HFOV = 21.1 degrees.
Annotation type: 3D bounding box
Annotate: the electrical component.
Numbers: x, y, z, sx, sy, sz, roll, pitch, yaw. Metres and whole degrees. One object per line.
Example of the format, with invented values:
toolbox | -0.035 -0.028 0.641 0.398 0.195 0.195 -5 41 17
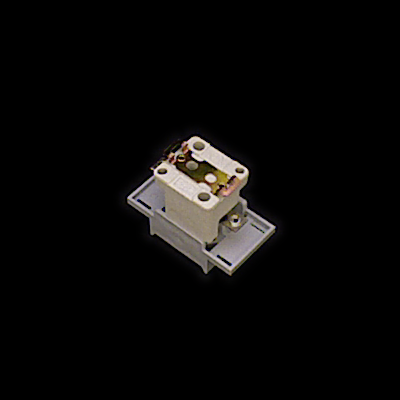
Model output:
electrical component | 0.000 0.000 0.627 0.080 0.064 0.042 34 59 23
